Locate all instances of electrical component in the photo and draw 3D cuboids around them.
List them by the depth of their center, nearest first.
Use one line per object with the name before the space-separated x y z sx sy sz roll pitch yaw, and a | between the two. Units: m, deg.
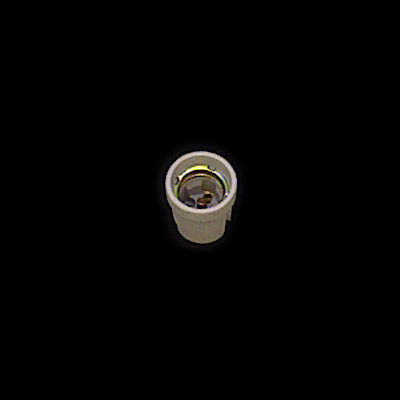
electrical component | 0.000 0.000 0.628 0.040 0.040 0.046 0 -28 0
